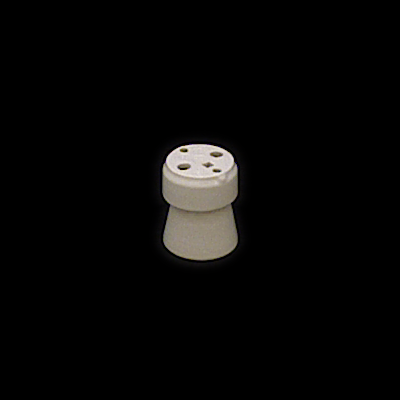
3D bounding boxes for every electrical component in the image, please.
[{"bbox_3d":[0.000,0.000,0.634,0.045,0.056,0.044,0,32,0],"label":"electrical component"}]
